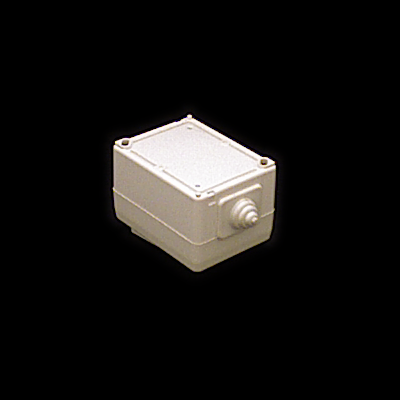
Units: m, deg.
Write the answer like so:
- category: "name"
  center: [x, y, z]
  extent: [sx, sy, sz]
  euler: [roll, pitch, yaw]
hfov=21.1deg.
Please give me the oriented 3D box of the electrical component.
- category: "electrical component"
  center: [0.000, 0.000, 0.632]
  extent: [0.061, 0.061, 0.095]
  euler: [-24, 40, -34]
